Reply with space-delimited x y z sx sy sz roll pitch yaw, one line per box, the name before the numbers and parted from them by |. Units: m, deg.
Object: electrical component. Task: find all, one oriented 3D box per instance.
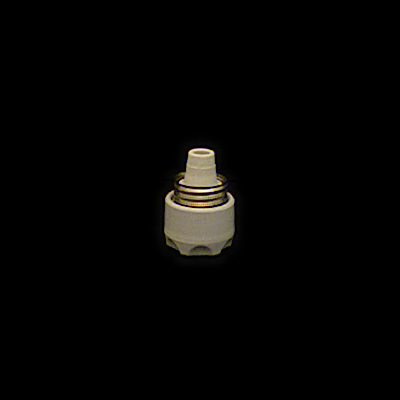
electrical component | 0.000 0.000 0.647 0.043 0.063 0.043 2 21 0
